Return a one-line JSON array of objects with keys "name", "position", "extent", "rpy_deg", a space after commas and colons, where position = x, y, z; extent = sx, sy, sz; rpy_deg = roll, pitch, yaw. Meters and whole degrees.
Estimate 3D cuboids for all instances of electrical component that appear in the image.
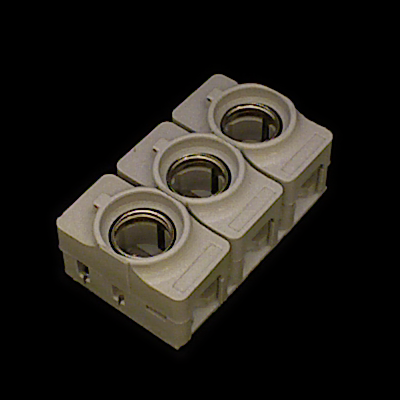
[{"name": "electrical component", "position": [0.000, 0.000, 0.634], "extent": [0.089, 0.062, 0.149], "rpy_deg": [31, 58, 22]}]
